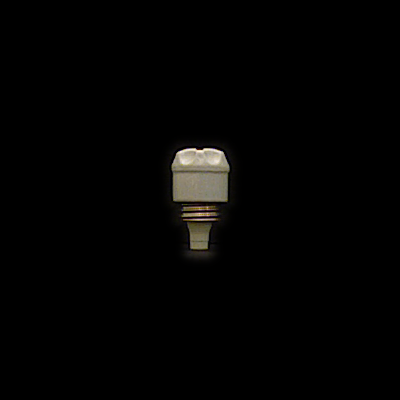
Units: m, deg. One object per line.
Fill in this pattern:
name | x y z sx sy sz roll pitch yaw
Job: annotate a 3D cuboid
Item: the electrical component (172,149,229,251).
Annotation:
electrical component | 0.000 0.000 0.655 0.035 0.061 0.035 1 2 1
